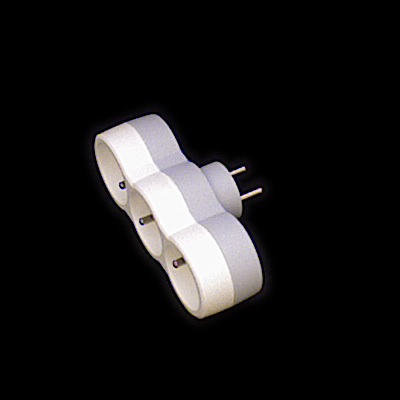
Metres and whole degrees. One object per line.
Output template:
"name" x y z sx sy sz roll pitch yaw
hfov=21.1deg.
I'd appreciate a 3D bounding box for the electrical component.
"electrical component" 0.000 0.000 0.633 0.074 0.137 0.052 -23 -34 -19
